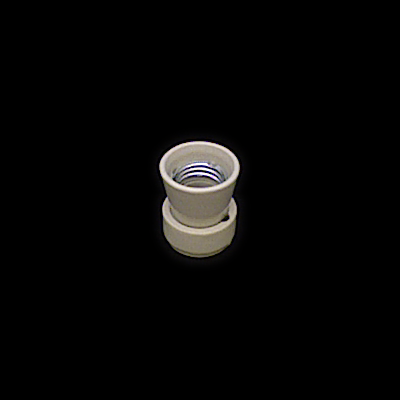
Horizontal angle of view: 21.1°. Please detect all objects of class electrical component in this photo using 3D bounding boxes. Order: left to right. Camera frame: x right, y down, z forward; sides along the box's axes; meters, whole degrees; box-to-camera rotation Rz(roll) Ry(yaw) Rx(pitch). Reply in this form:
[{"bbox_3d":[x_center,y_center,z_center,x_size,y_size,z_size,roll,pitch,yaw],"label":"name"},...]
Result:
[{"bbox_3d":[0.000,0.000,0.630,0.045,0.055,0.044,0,42,0],"label":"electrical component"}]
